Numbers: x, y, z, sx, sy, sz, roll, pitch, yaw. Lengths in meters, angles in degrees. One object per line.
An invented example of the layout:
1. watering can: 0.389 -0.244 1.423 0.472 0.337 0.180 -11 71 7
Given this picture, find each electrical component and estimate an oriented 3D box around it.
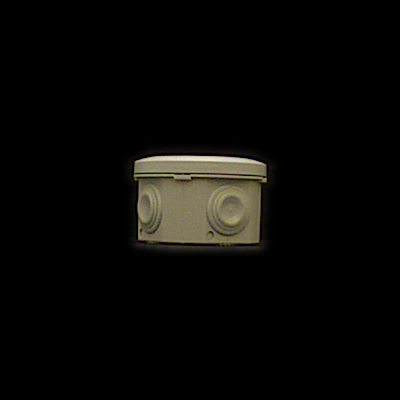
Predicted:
1. electrical component: 0.000 0.000 0.648 0.080 0.051 0.080 1 0 0
